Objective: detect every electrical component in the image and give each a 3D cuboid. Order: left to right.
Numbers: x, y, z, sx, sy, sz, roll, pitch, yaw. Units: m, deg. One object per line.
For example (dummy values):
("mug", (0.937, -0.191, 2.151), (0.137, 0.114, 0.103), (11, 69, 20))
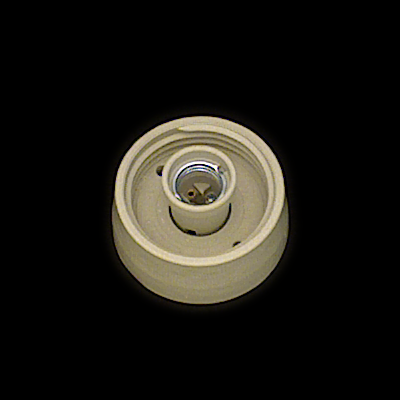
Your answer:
("electrical component", (0.000, 0.000, 0.635), (0.108, 0.108, 0.060), (0, -27, 0))
